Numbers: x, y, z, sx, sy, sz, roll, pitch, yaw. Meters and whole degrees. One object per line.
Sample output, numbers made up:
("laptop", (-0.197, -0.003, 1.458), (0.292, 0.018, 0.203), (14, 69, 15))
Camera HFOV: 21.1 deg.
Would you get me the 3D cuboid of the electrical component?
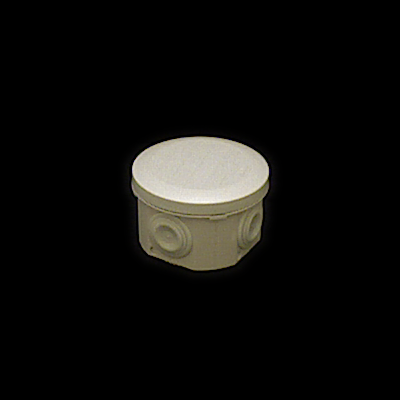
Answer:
("electrical component", (0.000, 0.000, 0.634), (0.080, 0.051, 0.079), (1, 31, 0))
